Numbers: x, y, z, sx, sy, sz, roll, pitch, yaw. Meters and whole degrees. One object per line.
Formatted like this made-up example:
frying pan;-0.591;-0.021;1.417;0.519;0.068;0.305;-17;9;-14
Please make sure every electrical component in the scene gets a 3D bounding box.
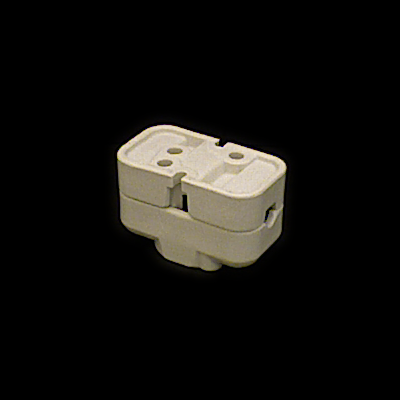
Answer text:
electrical component;0.000;0.000;0.639;0.094;0.060;0.053;18;36;25
